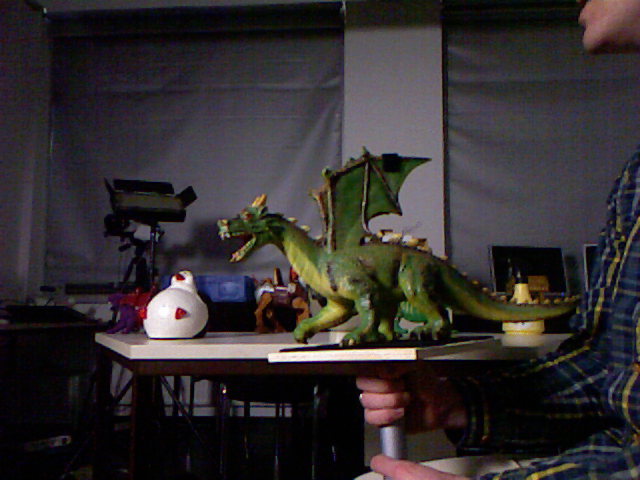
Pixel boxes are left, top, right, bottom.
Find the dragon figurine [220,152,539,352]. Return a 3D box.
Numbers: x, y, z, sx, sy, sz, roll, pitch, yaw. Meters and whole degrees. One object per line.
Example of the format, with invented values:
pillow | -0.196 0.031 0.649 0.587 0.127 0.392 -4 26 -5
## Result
dragon figurine | 0.082 0.005 0.645 0.411 0.244 0.121 -5 -6 -18
